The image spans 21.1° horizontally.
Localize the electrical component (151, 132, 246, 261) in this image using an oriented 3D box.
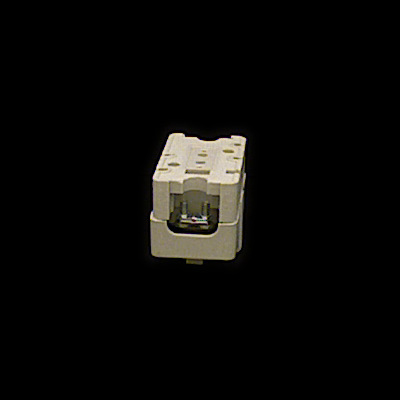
[{"bbox_3d":[0.000,0.000,0.647,0.050,0.056,0.088,3,22,4],"label":"electrical component"}]
